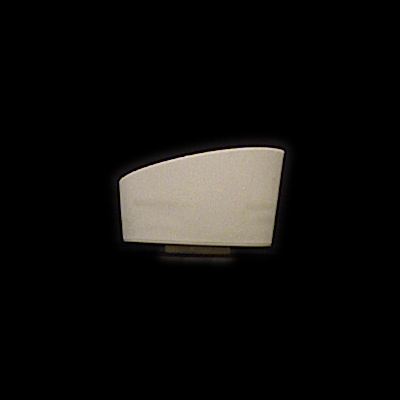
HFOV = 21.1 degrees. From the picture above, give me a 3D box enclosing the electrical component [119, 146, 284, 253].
[{"bbox_3d":[0.000,0.000,0.650,0.099,0.064,0.099,2,0,0],"label":"electrical component"}]
